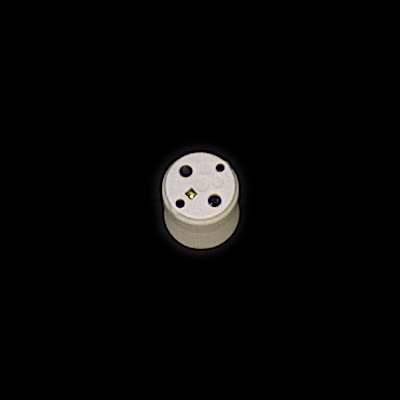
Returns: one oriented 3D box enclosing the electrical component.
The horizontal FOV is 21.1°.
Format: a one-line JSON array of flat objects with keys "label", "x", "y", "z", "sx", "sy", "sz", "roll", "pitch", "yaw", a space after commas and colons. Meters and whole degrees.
[{"label": "electrical component", "x": 0.000, "y": 0.000, "z": 0.629, "sx": 0.045, "sy": 0.045, "sz": 0.055, "roll": 0, "pitch": -17, "yaw": 0}]
